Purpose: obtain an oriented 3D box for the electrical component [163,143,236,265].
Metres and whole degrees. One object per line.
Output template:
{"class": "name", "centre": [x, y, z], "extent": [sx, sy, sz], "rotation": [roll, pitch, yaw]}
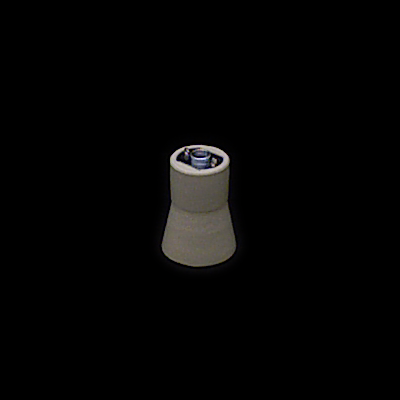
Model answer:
{"class": "electrical component", "centre": [0.000, 0.000, 0.632], "extent": [0.044, 0.066, 0.044], "rotation": [0, 33, 0]}
